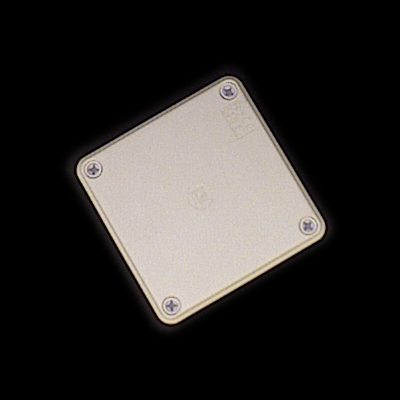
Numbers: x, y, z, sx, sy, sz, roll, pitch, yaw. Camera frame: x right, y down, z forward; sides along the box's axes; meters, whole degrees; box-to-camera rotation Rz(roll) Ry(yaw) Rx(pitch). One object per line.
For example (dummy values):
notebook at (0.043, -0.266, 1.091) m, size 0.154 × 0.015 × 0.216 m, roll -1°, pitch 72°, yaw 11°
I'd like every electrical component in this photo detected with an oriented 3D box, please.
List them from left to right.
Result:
electrical component at (0.000, 0.000, 0.630) m, size 0.109 × 0.109 × 0.056 m, roll -30°, pitch -6°, yaw -3°
